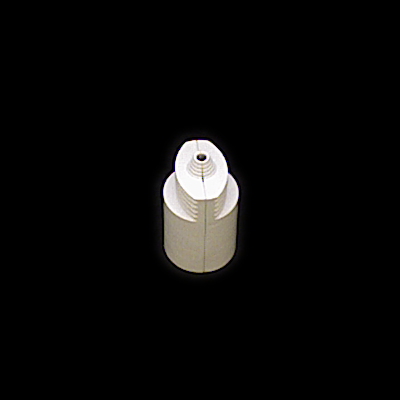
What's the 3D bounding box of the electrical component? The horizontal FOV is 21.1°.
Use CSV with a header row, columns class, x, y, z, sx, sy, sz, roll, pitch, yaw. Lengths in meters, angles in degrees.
class,x,y,z,sx,sy,sz,roll,pitch,yaw
electrical component,0.000,0.000,0.619,0.043,0.043,0.081,0,-38,0
